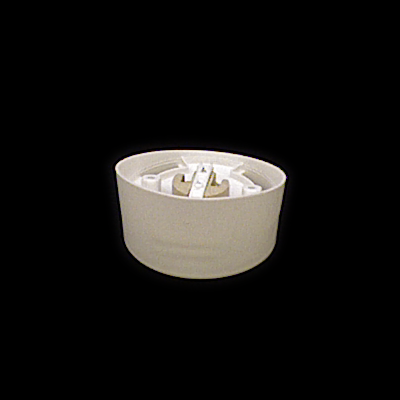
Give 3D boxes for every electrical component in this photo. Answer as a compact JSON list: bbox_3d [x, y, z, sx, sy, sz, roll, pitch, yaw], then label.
[{"bbox_3d":[0.000,0.000,0.632,0.099,0.065,0.097,1,32,0],"label":"electrical component"}]
